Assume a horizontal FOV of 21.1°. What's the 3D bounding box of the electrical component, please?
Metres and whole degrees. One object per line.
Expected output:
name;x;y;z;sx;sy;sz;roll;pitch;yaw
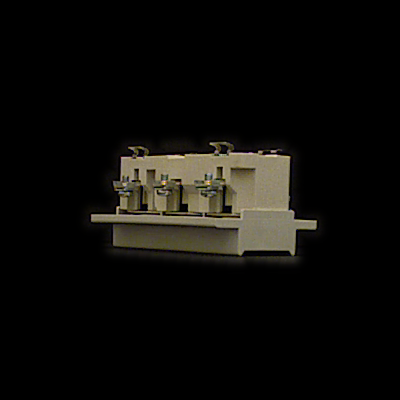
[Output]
electrical component;0.000;0.000;0.660;0.079;0.063;0.120;2;0;-40
